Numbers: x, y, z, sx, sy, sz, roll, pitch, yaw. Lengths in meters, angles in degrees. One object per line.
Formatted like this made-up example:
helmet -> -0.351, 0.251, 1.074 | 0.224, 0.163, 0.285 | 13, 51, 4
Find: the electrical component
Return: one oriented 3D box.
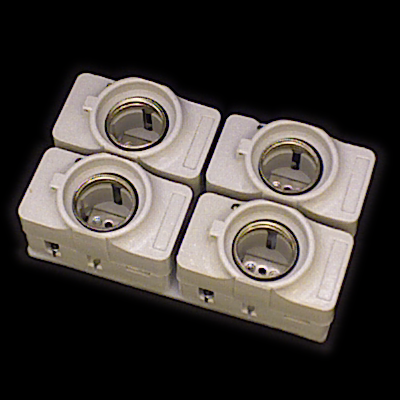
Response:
electrical component -> 0.000, 0.000, 0.625 | 0.186, 0.106, 0.060 | 16, -26, 8
